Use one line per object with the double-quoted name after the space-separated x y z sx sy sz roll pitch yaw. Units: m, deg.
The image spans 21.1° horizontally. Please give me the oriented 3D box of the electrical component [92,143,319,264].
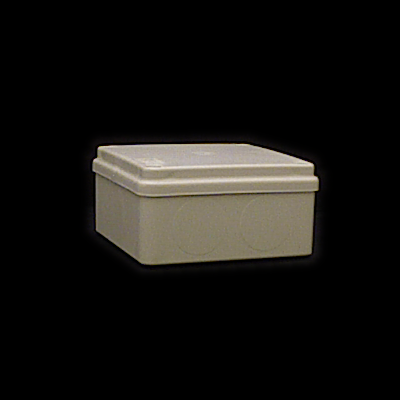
0.000 0.000 0.646 0.109 0.056 0.108 -2 11 -21 "electrical component"
